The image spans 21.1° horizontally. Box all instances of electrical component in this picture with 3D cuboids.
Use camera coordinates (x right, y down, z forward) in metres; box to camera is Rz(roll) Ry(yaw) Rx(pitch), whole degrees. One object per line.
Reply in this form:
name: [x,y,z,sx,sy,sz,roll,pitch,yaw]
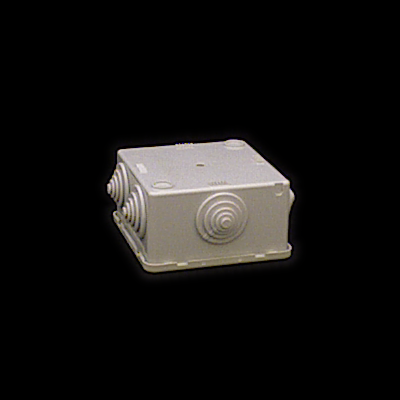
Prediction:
electrical component: [0.000,0.000,0.640,0.100,0.049,0.098,-5,22,-16]
